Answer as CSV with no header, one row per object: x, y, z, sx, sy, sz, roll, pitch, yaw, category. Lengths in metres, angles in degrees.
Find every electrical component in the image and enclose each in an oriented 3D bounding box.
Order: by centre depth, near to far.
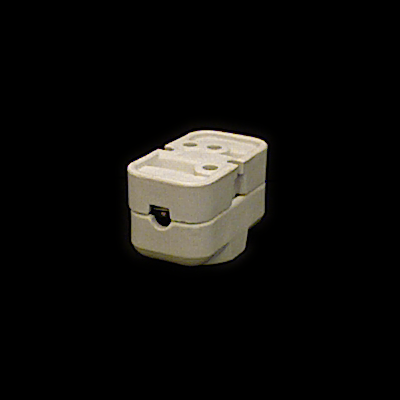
0.000,0.000,0.645,0.053,0.060,0.095,12,25,26,electrical component
